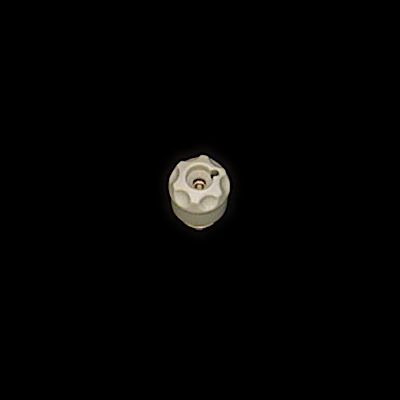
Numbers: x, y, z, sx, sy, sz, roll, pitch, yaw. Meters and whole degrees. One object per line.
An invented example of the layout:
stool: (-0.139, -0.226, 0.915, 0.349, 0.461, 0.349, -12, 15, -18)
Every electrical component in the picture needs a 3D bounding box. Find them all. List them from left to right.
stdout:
electrical component: (0.000, 0.000, 0.633, 0.035, 0.035, 0.061, 0, -26, 0)
